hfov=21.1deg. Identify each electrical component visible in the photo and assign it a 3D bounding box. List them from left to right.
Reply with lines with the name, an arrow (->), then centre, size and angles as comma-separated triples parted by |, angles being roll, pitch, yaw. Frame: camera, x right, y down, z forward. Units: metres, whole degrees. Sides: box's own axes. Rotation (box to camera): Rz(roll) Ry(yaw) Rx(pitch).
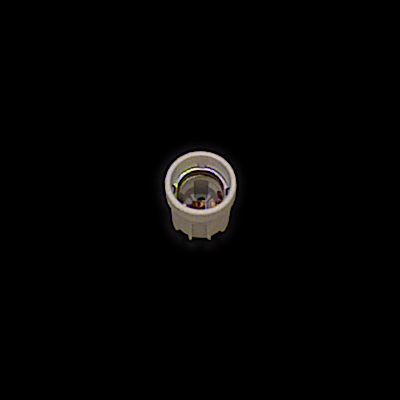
electrical component -> 0.000, 0.000, 0.627 | 0.040, 0.040, 0.046 | 0, -27, 0
